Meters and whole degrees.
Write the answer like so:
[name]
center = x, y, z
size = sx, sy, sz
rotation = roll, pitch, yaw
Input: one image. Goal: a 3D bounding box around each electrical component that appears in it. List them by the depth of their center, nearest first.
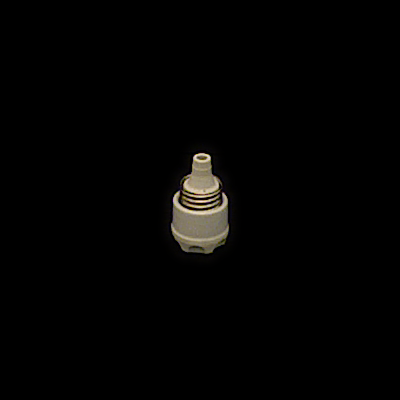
[electrical component]
center = 0.000, 0.000, 0.648
size = 0.035, 0.062, 0.034
rotation = 2, 33, -1
